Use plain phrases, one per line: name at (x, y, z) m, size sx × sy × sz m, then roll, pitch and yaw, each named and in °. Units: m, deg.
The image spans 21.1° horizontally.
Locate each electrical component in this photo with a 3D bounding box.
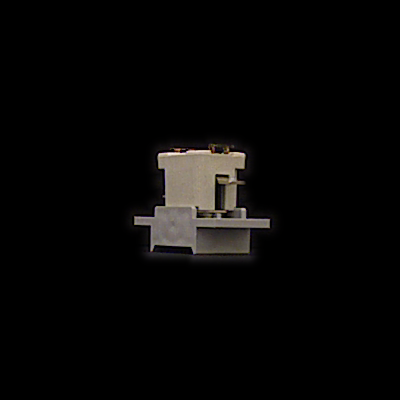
electrical component at (0.000, 0.000, 0.649) m, size 0.042 × 0.064 × 0.080 m, roll 0°, pitch 1°, yaw -39°
